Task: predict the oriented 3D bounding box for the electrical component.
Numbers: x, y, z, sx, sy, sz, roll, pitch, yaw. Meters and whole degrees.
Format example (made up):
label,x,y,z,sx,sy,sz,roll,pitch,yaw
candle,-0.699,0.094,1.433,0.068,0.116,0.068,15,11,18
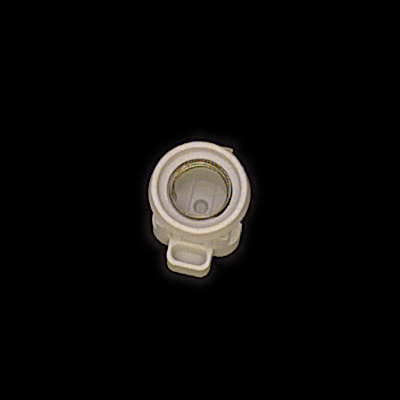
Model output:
label,x,y,z,sx,sy,sz,roll,pitch,yaw
electrical component,0.000,0.000,0.629,0.058,0.079,0.056,12,-16,4
